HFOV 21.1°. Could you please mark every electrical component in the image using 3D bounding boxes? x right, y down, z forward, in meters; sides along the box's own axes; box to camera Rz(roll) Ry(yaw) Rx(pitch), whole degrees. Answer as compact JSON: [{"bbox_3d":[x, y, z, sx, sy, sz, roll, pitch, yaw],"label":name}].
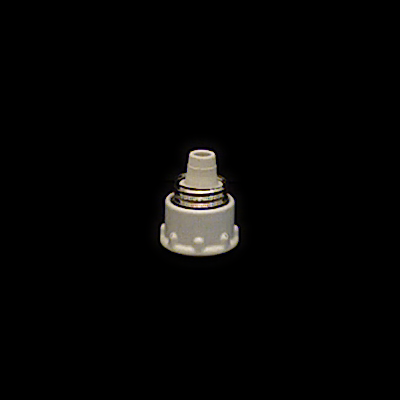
[{"bbox_3d":[0.000,0.000,0.647,0.048,0.063,0.047,2,22,0],"label":"electrical component"}]
